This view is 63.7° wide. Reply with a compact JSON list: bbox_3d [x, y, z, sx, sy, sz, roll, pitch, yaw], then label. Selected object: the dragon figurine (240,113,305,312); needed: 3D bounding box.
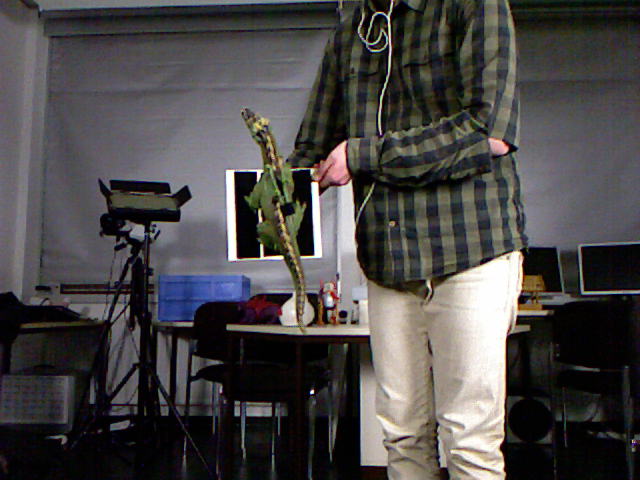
[{"bbox_3d":[-0.079,-0.054,1.015,0.122,0.413,0.242,-17,-4,-6],"label":"dragon figurine"}]
